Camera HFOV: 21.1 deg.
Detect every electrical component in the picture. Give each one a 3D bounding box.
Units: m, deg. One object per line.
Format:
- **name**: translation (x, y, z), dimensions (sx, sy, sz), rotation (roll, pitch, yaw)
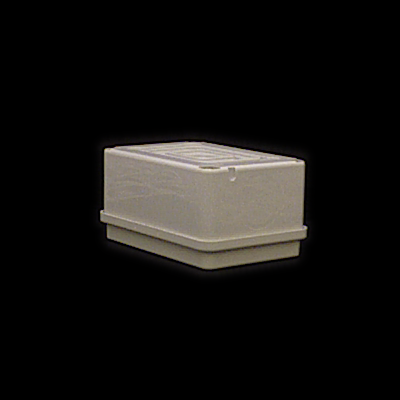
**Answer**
- **electrical component**: translation (0.000, 0.000, 0.644), dimensions (0.078, 0.057, 0.112), rotation (-7, 13, -37)
